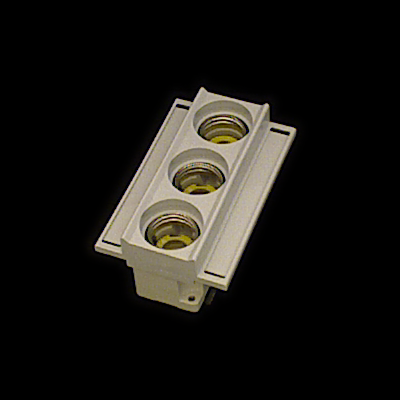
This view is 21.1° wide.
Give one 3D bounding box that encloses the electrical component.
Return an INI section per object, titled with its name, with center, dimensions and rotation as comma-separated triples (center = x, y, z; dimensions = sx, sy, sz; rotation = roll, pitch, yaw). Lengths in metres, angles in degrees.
[electrical component]
center = 0.000, 0.000, 0.639
dimensions = 0.078, 0.121, 0.063
rotation = 17, -35, 14
